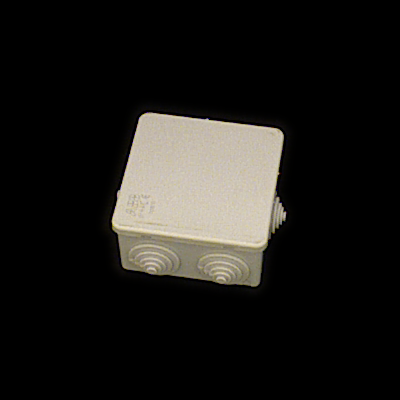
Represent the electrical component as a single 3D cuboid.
[{"bbox_3d":[0.000,0.000,0.639,0.099,0.100,0.048,8,-36,5],"label":"electrical component"}]
